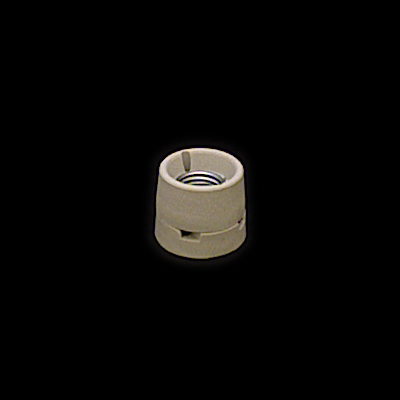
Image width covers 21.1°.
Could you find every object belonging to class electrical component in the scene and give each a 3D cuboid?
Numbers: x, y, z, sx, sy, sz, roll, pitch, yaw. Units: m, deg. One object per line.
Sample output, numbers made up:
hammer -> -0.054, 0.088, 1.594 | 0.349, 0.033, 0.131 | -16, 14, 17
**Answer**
electrical component -> 0.000, 0.000, 0.637 | 0.055, 0.047, 0.055 | 1, 33, 0
